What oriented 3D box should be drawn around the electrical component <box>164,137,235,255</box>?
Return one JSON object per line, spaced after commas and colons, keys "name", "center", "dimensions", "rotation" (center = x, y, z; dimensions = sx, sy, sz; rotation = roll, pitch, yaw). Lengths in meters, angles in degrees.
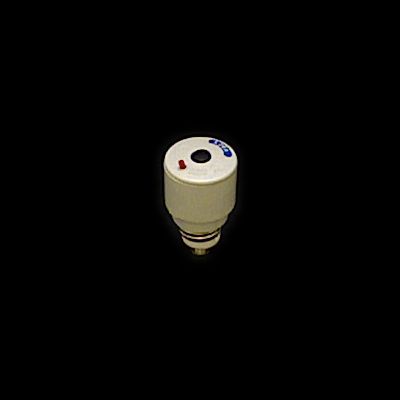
{"name": "electrical component", "center": [0.000, 0.000, 0.623], "dimensions": [0.040, 0.079, 0.039], "rotation": [0, 42, 0]}
